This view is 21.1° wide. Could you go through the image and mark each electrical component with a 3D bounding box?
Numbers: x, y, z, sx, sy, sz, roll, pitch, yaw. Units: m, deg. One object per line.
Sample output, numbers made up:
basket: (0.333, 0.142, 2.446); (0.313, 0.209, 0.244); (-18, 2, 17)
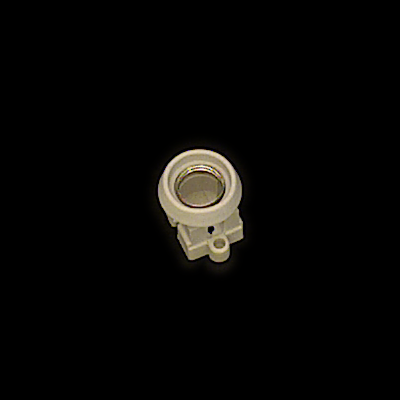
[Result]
electrical component: (0.000, 0.000, 0.637); (0.049, 0.066, 0.055); (-23, -24, -13)
